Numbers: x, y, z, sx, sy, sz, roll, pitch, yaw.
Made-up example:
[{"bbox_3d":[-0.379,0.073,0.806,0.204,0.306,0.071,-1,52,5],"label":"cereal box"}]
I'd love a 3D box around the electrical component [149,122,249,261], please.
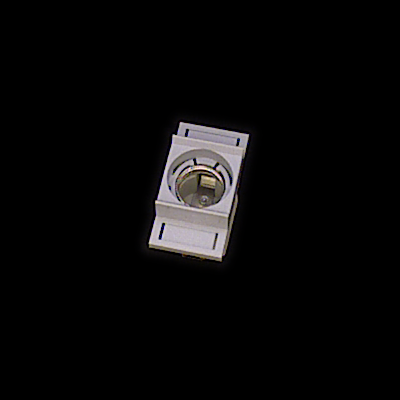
[{"bbox_3d":[0.000,0.000,0.625,0.042,0.081,0.064,11,-26,6],"label":"electrical component"}]
